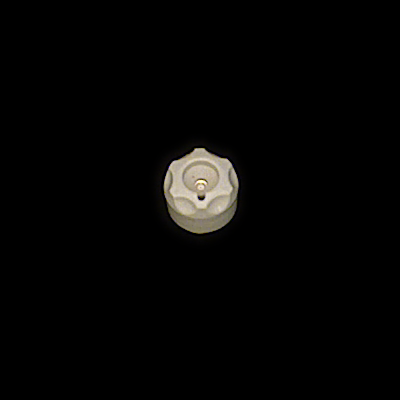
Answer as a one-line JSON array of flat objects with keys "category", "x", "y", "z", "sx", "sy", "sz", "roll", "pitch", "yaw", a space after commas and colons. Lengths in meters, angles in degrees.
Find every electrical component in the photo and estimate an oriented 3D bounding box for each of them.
[{"category": "electrical component", "x": 0.000, "y": 0.000, "z": 0.634, "sx": 0.043, "sy": 0.043, "sz": 0.062, "roll": 0, "pitch": -27, "yaw": 1}]
